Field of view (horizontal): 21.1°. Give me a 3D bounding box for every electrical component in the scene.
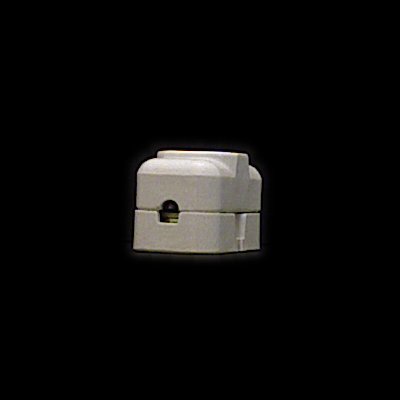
[{"bbox_3d":[0.000,0.000,0.657,0.053,0.059,0.096,2,1,22],"label":"electrical component"}]
